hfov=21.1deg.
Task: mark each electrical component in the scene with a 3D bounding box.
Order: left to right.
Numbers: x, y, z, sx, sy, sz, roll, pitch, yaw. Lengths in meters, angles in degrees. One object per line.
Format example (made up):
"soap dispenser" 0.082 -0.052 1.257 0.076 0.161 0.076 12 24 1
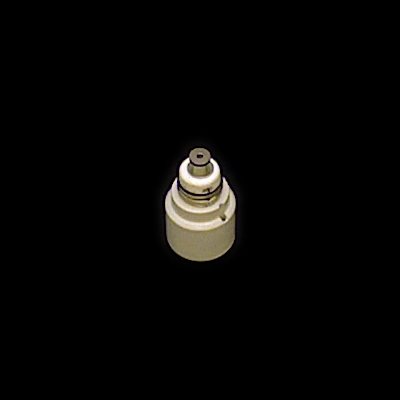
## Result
"electrical component" 0.000 0.000 0.620 0.040 0.040 0.079 0 -38 1
